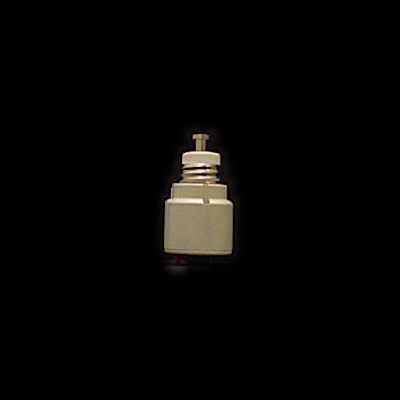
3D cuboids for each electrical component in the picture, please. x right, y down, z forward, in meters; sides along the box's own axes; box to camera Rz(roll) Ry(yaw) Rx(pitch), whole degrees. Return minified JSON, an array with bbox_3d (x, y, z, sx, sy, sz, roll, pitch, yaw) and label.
[{"bbox_3d":[0.000,0.000,0.651,0.040,0.078,0.040,2,2,0],"label":"electrical component"}]
